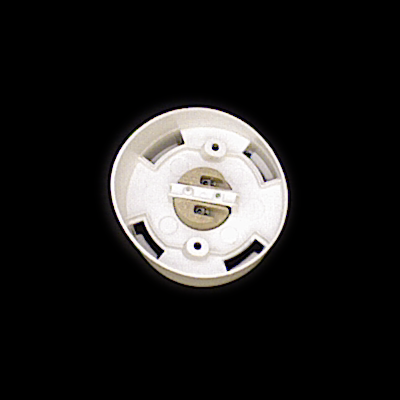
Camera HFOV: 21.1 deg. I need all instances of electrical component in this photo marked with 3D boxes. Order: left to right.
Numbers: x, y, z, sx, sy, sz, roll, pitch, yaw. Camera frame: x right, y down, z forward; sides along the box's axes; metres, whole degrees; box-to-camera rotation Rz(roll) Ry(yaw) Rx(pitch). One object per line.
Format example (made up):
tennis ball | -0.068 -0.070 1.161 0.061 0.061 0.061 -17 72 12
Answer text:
electrical component | 0.000 0.000 0.623 0.099 0.099 0.064 0 -17 1
